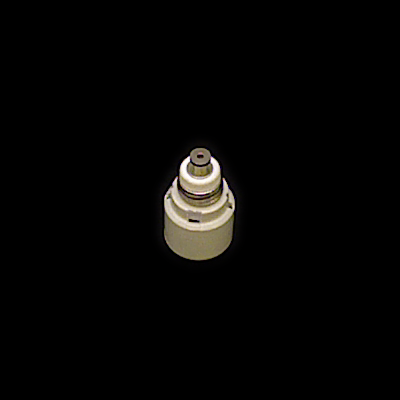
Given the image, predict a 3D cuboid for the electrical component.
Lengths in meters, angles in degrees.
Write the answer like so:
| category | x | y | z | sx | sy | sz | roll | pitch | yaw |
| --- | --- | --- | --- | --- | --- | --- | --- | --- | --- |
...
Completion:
| category | x | y | z | sx | sy | sz | roll | pitch | yaw |
| --- | --- | --- | --- | --- | --- | --- | --- | --- | --- |
| electrical component | 0.000 | 0.000 | 0.621 | 0.040 | 0.040 | 0.079 | 0 | -38 | -2 |
